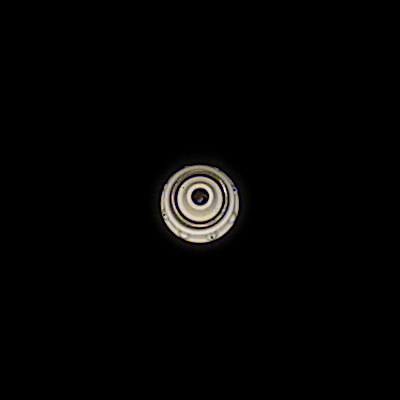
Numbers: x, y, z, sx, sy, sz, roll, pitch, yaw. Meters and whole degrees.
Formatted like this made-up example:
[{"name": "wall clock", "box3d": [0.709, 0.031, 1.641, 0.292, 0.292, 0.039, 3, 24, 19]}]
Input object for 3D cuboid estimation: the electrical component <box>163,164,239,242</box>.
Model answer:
[{"name": "electrical component", "box3d": [0.000, 0.000, 0.635, 0.048, 0.048, 0.062, 0, -5, 0]}]
